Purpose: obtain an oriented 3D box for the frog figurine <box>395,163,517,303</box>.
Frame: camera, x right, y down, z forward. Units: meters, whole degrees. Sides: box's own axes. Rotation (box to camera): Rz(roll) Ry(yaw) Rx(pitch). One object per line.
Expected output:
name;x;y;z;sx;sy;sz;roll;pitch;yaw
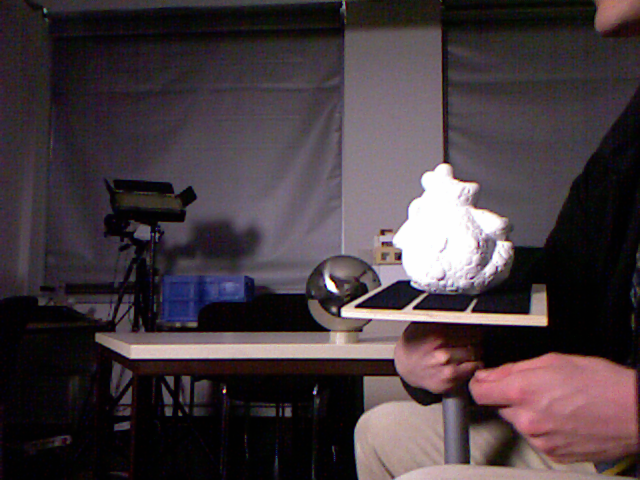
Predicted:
frog figurine;0.160;-0.011;0.613;0.138;0.159;0.124;2;9;32
